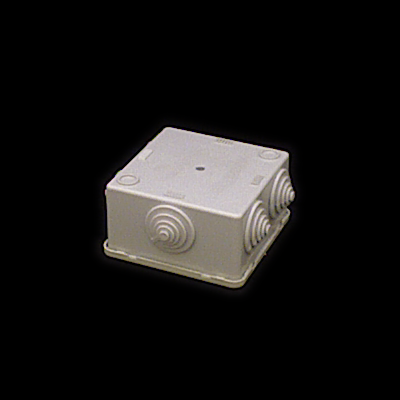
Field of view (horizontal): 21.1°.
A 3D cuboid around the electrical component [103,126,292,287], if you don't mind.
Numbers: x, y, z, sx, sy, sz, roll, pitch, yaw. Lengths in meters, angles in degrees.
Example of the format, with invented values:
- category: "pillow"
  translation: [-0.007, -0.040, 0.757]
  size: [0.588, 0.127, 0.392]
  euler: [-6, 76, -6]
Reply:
- category: "electrical component"
  translation: [0.000, 0.000, 0.638]
  size: [0.099, 0.049, 0.099]
  euler: [14, 34, 19]
